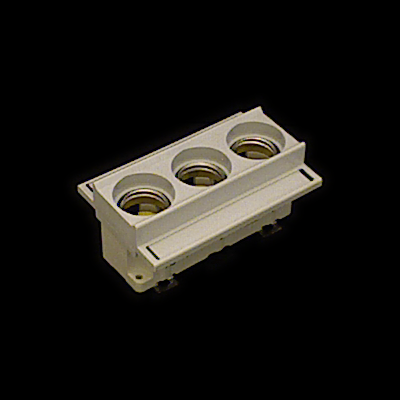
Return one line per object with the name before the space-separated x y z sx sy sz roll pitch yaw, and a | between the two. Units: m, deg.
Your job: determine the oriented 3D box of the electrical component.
electrical component | 0.000 0.000 0.642 0.121 0.064 0.078 -26 50 -26
